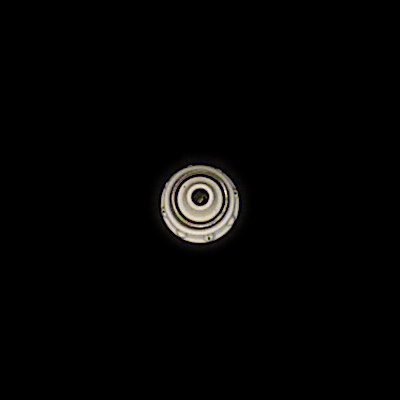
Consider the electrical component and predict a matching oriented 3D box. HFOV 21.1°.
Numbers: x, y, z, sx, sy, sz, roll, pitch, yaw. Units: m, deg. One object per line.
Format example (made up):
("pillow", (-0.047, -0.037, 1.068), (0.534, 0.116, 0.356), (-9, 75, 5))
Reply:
("electrical component", (0.000, 0.000, 0.635), (0.048, 0.048, 0.062), (0, -5, 0))
